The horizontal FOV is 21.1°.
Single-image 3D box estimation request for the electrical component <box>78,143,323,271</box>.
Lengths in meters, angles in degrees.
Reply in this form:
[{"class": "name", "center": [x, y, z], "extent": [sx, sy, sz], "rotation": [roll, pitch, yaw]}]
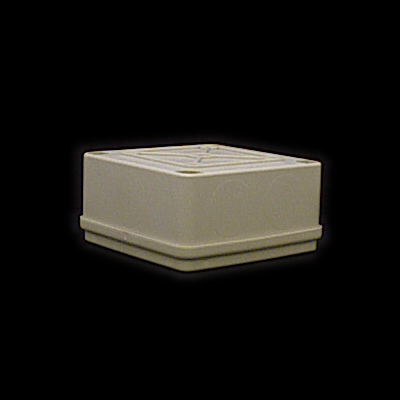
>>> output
[{"class": "electrical component", "center": [0.000, 0.000, 0.646], "extent": [0.108, 0.056, 0.108], "rotation": [-7, 13, -39]}]
